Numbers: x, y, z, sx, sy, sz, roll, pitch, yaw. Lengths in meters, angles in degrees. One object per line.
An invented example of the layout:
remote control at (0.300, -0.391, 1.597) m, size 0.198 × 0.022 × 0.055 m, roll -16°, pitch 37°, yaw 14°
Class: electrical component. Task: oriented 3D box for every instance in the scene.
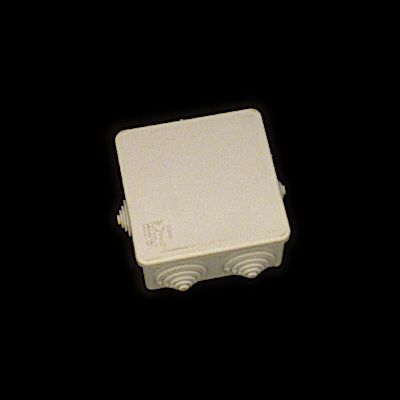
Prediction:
electrical component at (0.000, 0.000, 0.639) m, size 0.100 × 0.100 × 0.048 m, roll -10°, pitch -26°, yaw -5°
